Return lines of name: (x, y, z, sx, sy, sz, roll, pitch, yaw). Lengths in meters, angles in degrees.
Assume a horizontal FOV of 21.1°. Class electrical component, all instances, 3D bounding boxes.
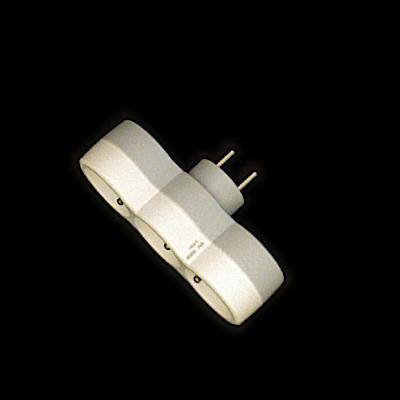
electrical component: (0.000, 0.000, 0.638, 0.074, 0.138, 0.052, -43, -12, -12)
